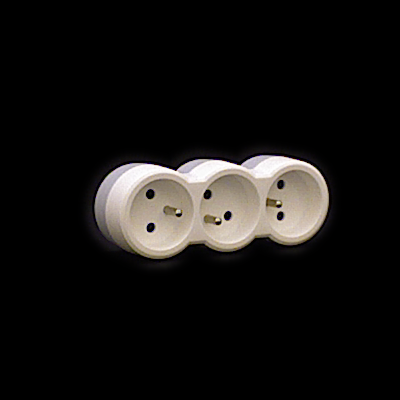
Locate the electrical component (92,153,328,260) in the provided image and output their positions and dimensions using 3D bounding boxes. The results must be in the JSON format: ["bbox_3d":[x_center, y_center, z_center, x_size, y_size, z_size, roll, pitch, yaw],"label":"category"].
[{"bbox_3d":[0.000,0.000,0.643,0.138,0.052,0.073,-5,10,-28],"label":"electrical component"}]
